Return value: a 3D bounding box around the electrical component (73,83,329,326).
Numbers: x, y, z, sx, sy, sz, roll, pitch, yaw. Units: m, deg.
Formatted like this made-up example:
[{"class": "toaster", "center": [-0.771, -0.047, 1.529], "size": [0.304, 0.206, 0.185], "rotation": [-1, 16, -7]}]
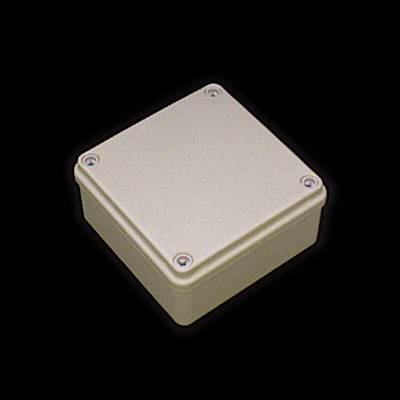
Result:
[{"class": "electrical component", "center": [0.000, 0.000, 0.630], "size": [0.109, 0.108, 0.056], "rotation": [-31, -32, -22]}]
